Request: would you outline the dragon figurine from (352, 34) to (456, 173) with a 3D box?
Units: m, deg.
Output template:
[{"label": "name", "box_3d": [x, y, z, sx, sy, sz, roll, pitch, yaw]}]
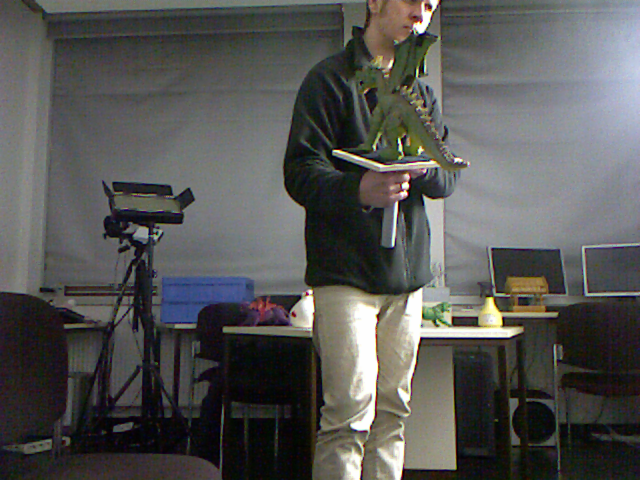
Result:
[{"label": "dragon figurine", "box_3d": [0.177, -0.298, 1.063, 0.123, 0.239, 0.416, -6, 23, -25]}]
